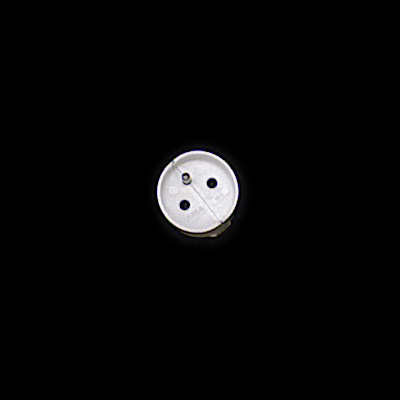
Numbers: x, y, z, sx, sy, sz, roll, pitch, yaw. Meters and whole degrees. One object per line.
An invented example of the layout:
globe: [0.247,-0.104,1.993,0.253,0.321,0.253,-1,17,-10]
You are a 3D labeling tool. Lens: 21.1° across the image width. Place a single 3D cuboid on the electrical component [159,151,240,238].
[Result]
electrical component: [0.000,0.000,0.615,0.043,0.043,0.080,0,-7,0]
